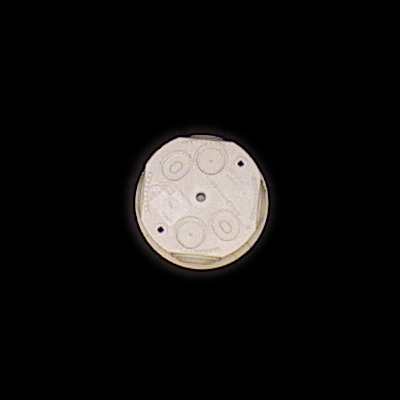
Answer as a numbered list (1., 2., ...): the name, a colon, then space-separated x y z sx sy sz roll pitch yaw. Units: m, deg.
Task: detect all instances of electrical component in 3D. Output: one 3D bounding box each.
1. electrical component: 0.000 0.000 0.633 0.080 0.080 0.050 0 -6 1
